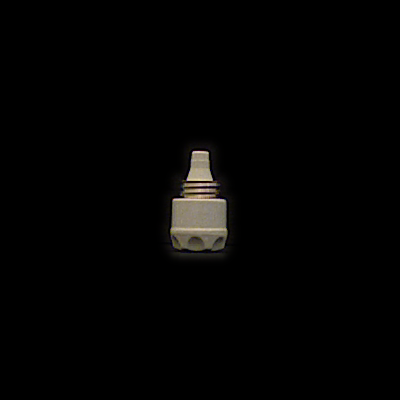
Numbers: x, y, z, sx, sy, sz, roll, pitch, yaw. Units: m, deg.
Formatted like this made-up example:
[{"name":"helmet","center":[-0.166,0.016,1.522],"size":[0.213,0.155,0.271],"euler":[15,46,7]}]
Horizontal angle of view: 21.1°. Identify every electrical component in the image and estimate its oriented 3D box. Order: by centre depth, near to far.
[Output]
[{"name":"electrical component","center":[0.000,0.000,0.661],"size":[0.035,0.061,0.035],"euler":[2,0,0]}]
